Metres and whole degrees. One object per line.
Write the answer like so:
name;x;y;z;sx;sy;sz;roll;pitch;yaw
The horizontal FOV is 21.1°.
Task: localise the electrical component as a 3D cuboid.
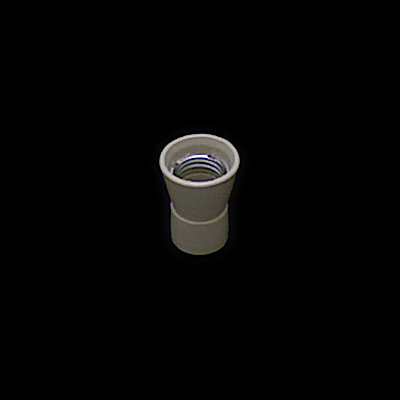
electrical component;0.000;0.000;0.627;0.044;0.066;0.044;0;43;0
